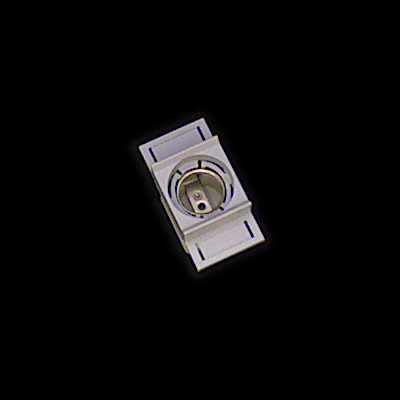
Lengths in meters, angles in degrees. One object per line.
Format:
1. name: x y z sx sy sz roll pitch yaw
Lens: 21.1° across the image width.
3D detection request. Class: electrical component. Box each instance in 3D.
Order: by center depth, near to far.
1. electrical component: 0.000 0.000 0.624 0.042 0.081 0.063 -24 -15 -6
